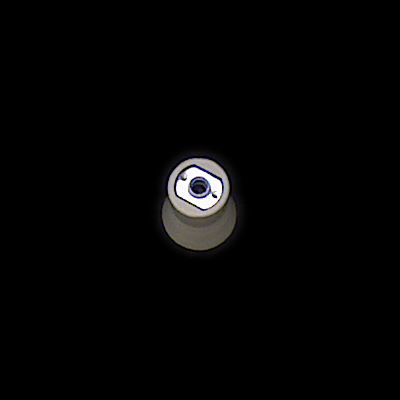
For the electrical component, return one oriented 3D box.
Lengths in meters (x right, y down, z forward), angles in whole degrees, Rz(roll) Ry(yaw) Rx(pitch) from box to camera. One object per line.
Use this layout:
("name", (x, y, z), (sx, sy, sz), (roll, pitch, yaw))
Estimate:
("electrical component", (0.000, 0.000, 0.624), (0.044, 0.044, 0.065), (0, -16, 0))
